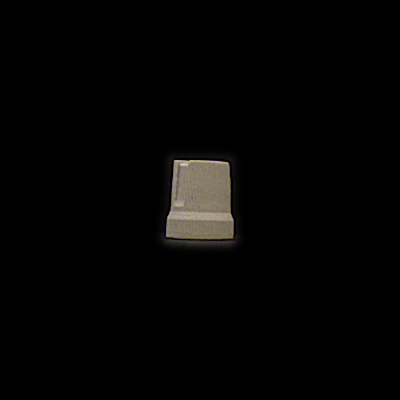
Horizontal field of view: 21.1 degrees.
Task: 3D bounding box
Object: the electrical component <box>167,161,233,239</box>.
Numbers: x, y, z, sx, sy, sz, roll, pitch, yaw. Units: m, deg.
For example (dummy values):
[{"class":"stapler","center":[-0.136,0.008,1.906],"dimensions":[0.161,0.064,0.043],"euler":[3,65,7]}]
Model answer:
[{"class":"electrical component","center":[0.000,0.000,0.650],"dimensions":[0.040,0.046,0.040],"euler":[1,2,0]}]
